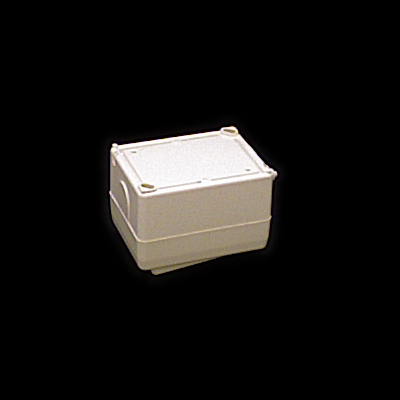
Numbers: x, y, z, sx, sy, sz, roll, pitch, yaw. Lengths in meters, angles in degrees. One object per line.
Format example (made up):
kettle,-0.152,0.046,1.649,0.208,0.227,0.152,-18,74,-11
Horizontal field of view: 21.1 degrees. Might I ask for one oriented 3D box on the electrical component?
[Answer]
electrical component,0.000,0.000,0.633,0.096,0.061,0.061,-10,33,-18
